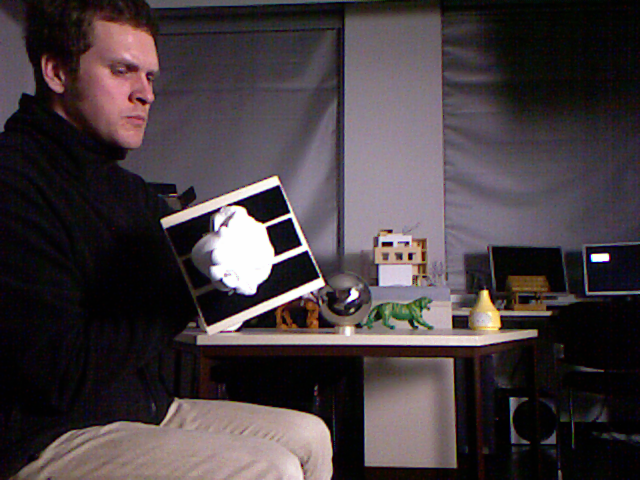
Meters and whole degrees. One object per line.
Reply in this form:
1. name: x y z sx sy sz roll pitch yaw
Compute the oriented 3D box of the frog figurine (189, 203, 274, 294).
1. frog figurine: -0.129 0.011 0.765 0.123 0.139 0.159 -2 -5 -9
